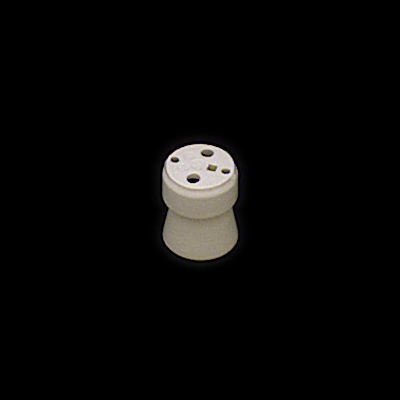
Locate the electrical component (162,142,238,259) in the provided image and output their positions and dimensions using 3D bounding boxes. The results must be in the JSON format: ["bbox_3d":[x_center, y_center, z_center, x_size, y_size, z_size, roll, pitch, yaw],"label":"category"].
[{"bbox_3d":[0.000,0.000,0.631,0.045,0.055,0.044,0,42,0],"label":"electrical component"}]
